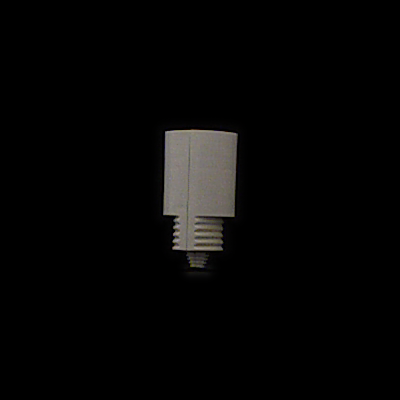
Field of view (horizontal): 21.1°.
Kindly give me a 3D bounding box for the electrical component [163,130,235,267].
[{"bbox_3d":[-0.001,0.000,0.647,0.043,0.081,0.043,0,1,0],"label":"electrical component"}]
